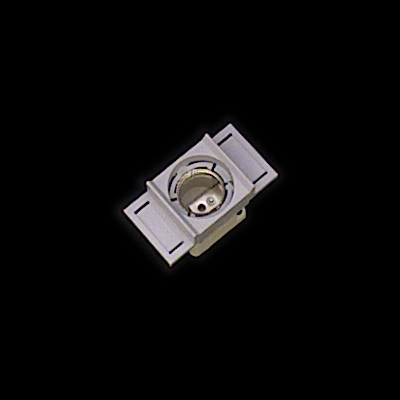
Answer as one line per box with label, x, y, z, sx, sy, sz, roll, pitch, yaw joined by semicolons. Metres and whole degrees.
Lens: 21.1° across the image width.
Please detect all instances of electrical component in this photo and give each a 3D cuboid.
electrical component;0.000;0.000;0.624;0.081;0.042;0.063;-39;-14;-10
